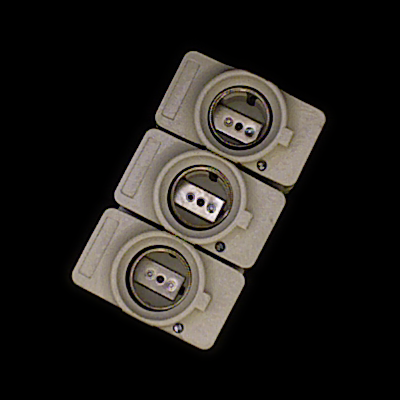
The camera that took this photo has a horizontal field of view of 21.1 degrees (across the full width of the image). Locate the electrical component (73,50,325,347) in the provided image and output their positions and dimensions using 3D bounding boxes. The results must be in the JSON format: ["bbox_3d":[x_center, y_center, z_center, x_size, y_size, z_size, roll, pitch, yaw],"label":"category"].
[{"bbox_3d":[0.000,0.000,0.632,0.089,0.150,0.061,27,-5,2],"label":"electrical component"}]
